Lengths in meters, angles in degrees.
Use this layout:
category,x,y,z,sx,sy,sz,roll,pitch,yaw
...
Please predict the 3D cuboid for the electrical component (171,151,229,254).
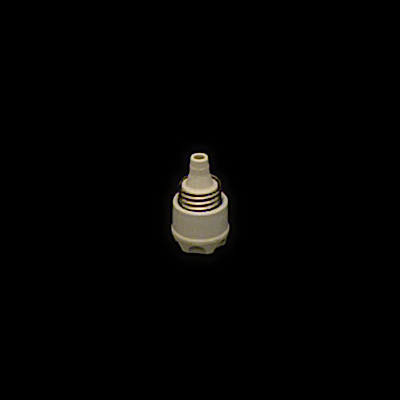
category,x,y,z,sx,sy,sz,roll,pitch,yaw
electrical component,0.000,0.000,0.645,0.035,0.062,0.034,-1,31,1
